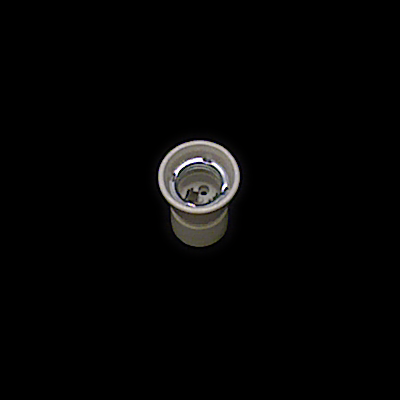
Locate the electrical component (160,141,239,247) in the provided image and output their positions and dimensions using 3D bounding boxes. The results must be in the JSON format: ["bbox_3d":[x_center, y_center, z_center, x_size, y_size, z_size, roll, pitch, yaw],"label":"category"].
[{"bbox_3d":[0.000,0.000,0.624,0.044,0.044,0.065,0,-26,0],"label":"electrical component"}]
